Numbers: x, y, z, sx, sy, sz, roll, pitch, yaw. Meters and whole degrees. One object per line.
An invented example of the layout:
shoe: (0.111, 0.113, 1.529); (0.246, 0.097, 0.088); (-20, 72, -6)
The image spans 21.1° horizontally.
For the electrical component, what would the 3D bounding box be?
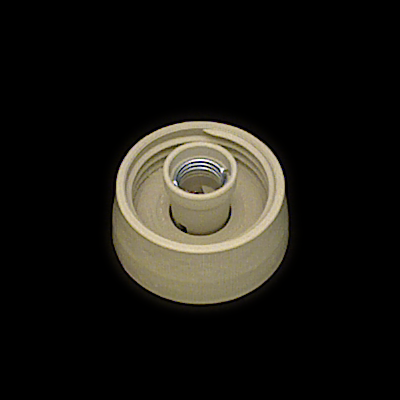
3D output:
electrical component: (0.000, 0.000, 0.636); (0.108, 0.107, 0.060); (0, -37, 0)
